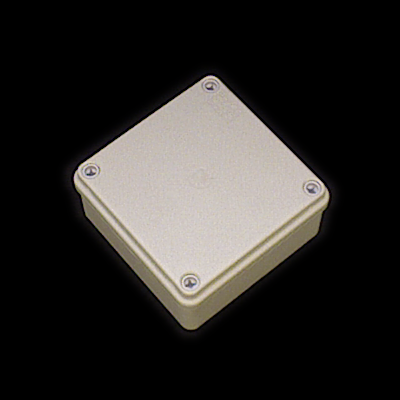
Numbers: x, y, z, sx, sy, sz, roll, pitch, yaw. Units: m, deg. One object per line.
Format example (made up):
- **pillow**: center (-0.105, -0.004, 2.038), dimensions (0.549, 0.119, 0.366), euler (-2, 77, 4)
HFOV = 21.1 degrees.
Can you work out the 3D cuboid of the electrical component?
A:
- **electrical component**: center (0.000, 0.000, 0.628), dimensions (0.109, 0.108, 0.056), euler (-37, -22, -17)
